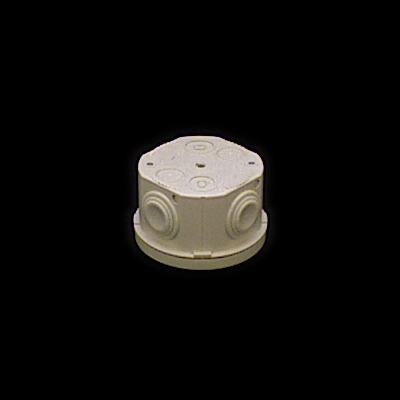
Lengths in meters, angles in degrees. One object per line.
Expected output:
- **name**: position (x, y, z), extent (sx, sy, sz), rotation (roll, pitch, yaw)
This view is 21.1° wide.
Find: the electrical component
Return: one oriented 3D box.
- **electrical component**: position (0.000, 0.000, 0.637), extent (0.080, 0.051, 0.079), rotation (0, 31, 0)
